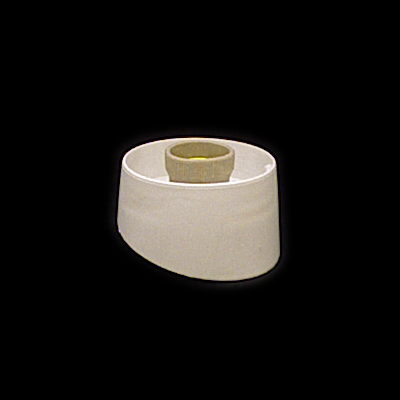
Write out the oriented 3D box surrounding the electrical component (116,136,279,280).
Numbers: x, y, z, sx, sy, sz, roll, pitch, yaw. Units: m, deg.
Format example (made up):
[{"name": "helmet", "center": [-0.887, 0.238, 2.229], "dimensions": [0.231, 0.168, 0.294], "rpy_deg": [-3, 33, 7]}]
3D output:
[{"name": "electrical component", "center": [0.000, 0.000, 0.638], "dimensions": [0.099, 0.065, 0.097], "rpy_deg": [1, 21, 0]}]
